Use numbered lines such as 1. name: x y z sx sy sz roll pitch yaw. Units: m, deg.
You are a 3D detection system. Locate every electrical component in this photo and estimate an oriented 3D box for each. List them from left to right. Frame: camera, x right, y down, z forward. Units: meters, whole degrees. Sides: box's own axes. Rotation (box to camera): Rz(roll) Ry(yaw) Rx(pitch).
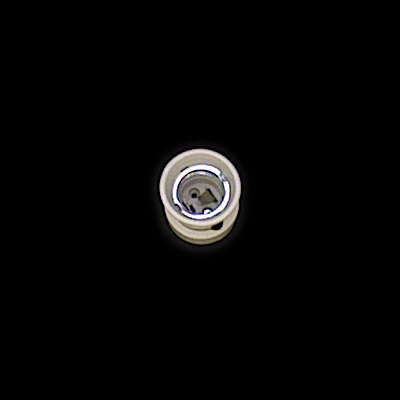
1. electrical component: 0.000 0.000 0.627 0.045 0.045 0.055 0 -17 1
